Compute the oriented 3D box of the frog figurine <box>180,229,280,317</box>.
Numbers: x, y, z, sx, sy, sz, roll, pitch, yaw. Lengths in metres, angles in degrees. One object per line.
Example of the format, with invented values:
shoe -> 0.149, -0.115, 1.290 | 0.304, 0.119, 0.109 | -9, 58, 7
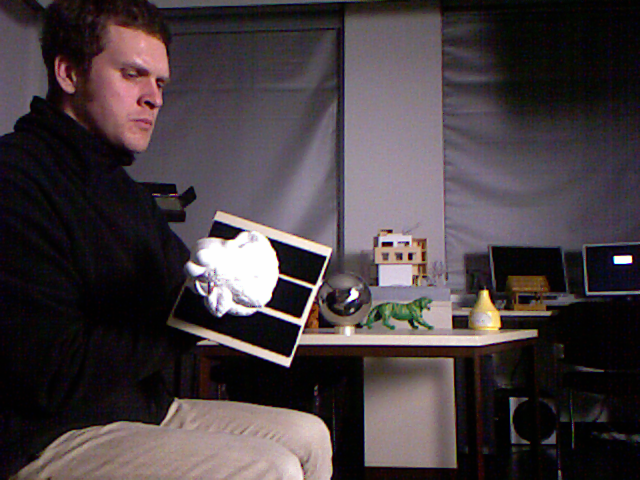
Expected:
frog figurine -> -0.125, 0.043, 0.754 | 0.124, 0.139, 0.158 | 38, -10, 13
